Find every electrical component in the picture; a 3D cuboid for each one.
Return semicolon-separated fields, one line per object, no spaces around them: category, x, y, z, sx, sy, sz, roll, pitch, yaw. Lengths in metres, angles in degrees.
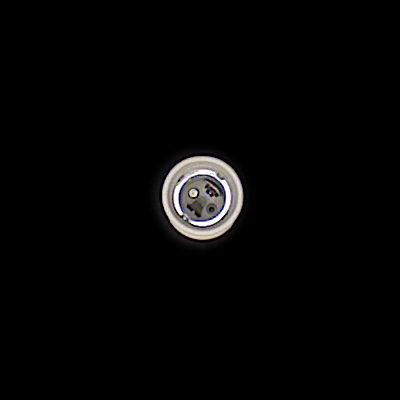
electrical component;0.000;0.000;0.629;0.045;0.045;0.055;0;-6;0
